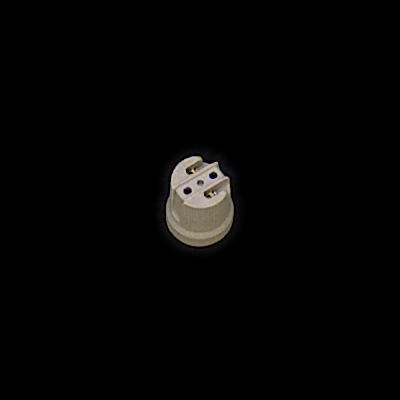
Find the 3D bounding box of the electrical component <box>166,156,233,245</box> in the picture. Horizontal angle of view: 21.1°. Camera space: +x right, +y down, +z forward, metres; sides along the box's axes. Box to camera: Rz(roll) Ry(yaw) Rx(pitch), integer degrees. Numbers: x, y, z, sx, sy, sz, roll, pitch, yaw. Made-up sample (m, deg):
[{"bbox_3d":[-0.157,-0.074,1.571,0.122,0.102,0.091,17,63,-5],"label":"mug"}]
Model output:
[{"bbox_3d":[0.000,0.000,0.633,0.040,0.040,0.046,0,-26,0],"label":"electrical component"}]
